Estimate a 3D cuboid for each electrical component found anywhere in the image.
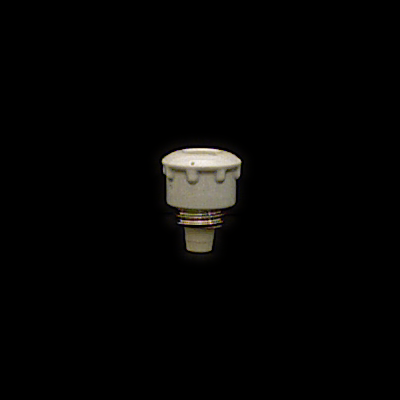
[{"bbox_3d":[0.000,0.000,0.653,0.048,0.062,0.048,1,11,0],"label":"electrical component"}]
